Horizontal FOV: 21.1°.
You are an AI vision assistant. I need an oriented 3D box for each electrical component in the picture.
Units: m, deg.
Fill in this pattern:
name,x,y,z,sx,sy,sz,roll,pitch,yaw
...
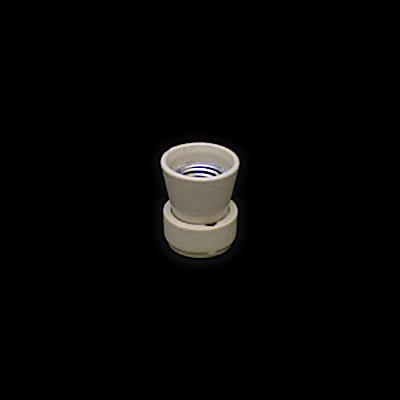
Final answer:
name,x,y,z,sx,sy,sz,roll,pitch,yaw
electrical component,0.000,0.000,0.633,0.045,0.056,0.044,0,31,0
